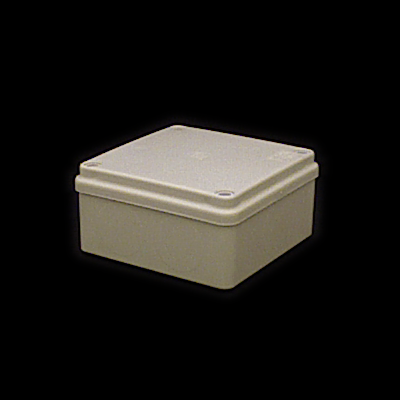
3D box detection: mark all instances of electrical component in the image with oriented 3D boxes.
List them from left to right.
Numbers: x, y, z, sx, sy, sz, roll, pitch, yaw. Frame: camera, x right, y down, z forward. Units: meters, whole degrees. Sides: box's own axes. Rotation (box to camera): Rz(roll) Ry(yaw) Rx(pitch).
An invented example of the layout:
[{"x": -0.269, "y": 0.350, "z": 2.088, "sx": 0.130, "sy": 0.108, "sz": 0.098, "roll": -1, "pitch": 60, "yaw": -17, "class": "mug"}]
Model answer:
[{"x": 0.000, "y": 0.000, "z": 0.639, "sx": 0.108, "sy": 0.057, "sz": 0.108, "roll": 13, "pitch": 24, "yaw": 30, "class": "electrical component"}]
